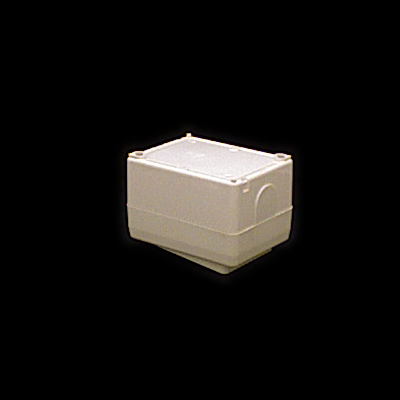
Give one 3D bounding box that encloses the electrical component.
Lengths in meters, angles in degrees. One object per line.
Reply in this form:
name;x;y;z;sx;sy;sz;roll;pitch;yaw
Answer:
electrical component;0.000;0.000;0.642;0.095;0.061;0.061;15;25;34
